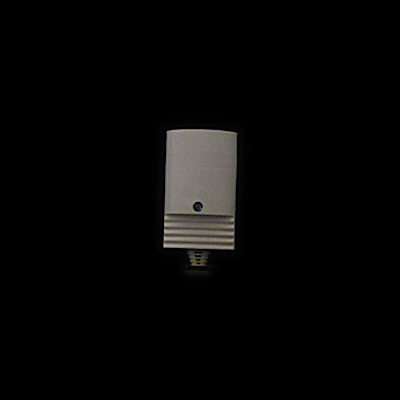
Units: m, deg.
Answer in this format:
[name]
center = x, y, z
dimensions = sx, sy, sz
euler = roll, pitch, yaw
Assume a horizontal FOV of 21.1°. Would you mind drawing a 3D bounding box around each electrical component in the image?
[electrical component]
center = 0.000, 0.000, 0.651
dimensions = 0.043, 0.081, 0.043
euler = 2, 2, 0
